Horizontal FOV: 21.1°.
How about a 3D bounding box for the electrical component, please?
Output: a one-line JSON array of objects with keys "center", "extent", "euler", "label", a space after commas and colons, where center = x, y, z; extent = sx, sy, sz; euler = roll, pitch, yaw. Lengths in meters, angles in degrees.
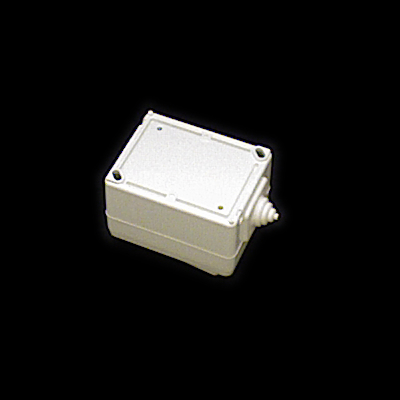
[{"center": [0.000, 0.000, 0.627], "extent": [0.096, 0.061, 0.061], "euler": [19, -37, 14], "label": "electrical component"}]
